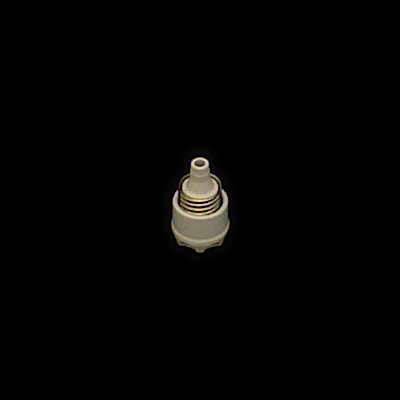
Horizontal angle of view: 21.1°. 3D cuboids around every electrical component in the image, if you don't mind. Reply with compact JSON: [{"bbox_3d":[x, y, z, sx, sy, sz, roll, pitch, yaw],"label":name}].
[{"bbox_3d":[0.000,0.000,0.643,0.035,0.062,0.035,0,44,1],"label":"electrical component"}]
